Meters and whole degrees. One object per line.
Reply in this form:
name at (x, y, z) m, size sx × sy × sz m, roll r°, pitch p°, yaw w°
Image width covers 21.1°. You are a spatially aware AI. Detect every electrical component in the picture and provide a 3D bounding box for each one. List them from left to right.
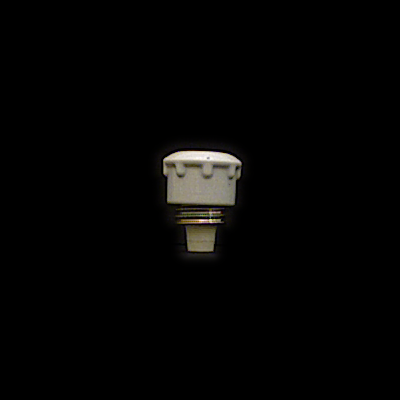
electrical component at (0.000, 0.000, 0.658) m, size 0.048 × 0.062 × 0.048 m, roll 2°, pitch 2°, yaw 1°
